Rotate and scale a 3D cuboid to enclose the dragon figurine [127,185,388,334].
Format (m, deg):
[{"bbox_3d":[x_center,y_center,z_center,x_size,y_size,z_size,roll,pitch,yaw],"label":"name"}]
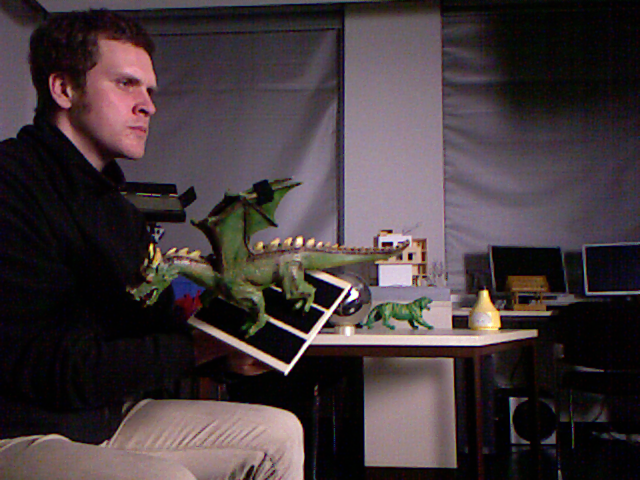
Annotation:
[{"bbox_3d":[-0.084,0.014,0.791,0.413,0.125,0.237,-21,-39,-12],"label":"dragon figurine"}]
